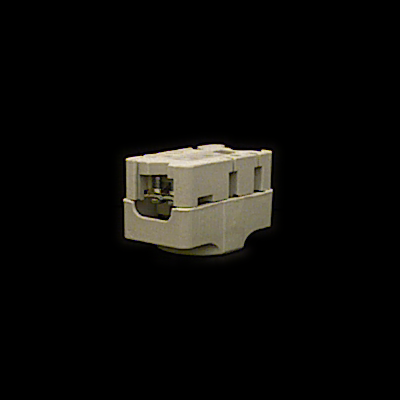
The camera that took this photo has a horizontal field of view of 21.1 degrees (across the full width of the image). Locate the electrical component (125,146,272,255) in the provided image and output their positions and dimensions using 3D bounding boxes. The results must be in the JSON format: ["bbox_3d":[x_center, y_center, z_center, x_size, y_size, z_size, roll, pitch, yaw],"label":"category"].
[{"bbox_3d":[0.000,0.000,0.652,0.049,0.056,0.090,9,13,36],"label":"electrical component"}]
